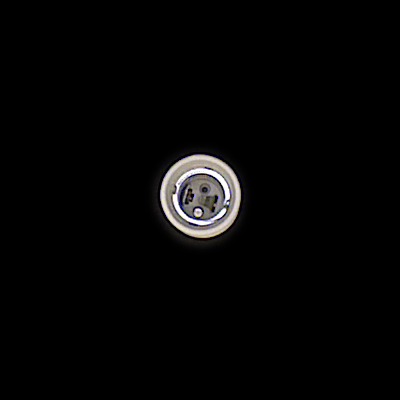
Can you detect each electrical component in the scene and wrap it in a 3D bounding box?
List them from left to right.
[{"bbox_3d":[0.000,0.000,0.629,0.045,0.045,0.055,0,-7,1],"label":"electrical component"}]
